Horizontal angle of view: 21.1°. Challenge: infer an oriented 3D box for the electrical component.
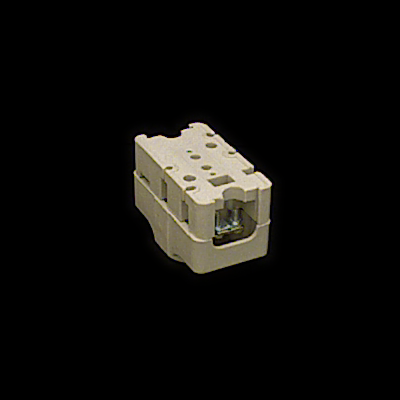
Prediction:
[{"bbox_3d":[0.000,0.000,0.643,0.050,0.056,0.088,-15,36,-24],"label":"electrical component"}]
